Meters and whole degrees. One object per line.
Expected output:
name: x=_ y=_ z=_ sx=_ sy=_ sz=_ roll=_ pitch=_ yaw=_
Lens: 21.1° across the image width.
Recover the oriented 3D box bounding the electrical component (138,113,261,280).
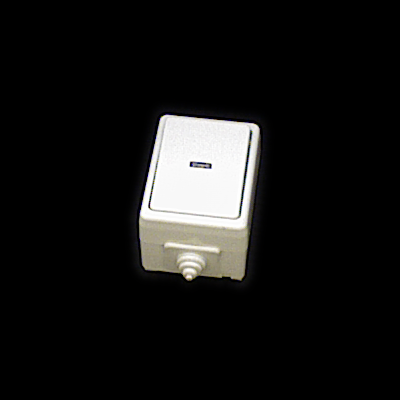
electrical component: x=0.000 y=0.000 z=0.626 sx=0.062 sy=0.096 sz=0.061 roll=6 pitch=-38 yaw=4
